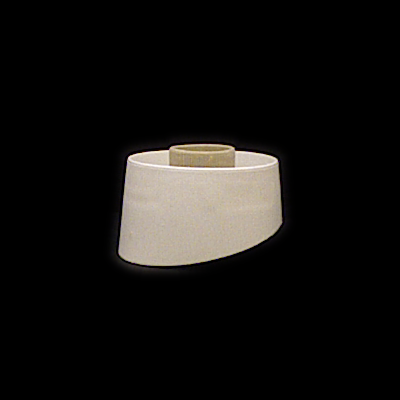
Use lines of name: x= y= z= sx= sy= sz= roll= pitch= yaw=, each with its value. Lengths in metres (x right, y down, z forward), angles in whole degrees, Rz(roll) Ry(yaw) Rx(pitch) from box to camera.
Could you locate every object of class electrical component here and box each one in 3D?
electrical component: x=0.000 y=0.000 z=0.645 sx=0.099 sy=0.064 sz=0.098 roll=1 pitch=11 yaw=0
